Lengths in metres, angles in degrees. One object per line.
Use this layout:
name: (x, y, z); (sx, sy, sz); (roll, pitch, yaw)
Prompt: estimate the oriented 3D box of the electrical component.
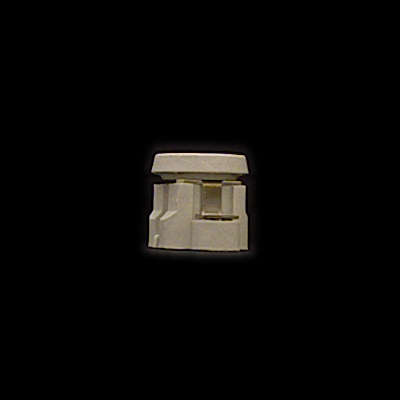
electrical component: (0.000, 0.000, 0.648); (0.058, 0.057, 0.078); (1, 0, -20)
